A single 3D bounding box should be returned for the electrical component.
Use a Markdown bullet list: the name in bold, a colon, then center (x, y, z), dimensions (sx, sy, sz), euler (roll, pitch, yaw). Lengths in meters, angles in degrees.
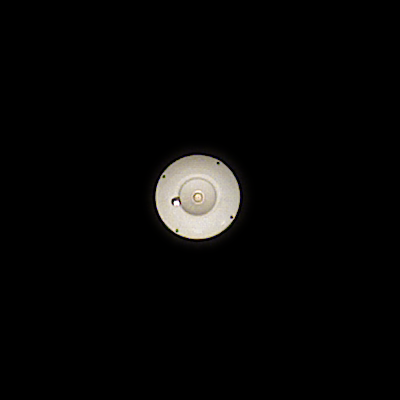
- **electrical component**: center (0.000, 0.000, 0.634), dimensions (0.048, 0.048, 0.061), euler (0, -6, 1)
